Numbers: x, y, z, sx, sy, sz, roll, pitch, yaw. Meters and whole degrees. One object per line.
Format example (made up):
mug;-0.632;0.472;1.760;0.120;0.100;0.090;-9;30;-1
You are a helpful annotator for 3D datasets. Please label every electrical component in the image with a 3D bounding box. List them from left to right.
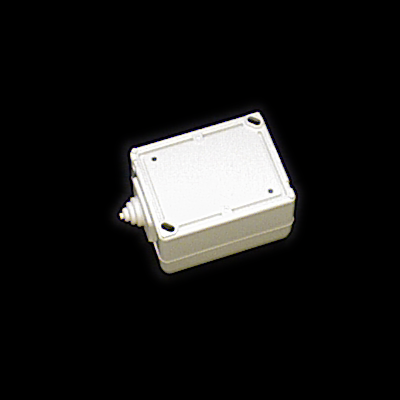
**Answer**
electrical component;0.000;0.000;0.624;0.096;0.062;0.060;-17;-26;-9
